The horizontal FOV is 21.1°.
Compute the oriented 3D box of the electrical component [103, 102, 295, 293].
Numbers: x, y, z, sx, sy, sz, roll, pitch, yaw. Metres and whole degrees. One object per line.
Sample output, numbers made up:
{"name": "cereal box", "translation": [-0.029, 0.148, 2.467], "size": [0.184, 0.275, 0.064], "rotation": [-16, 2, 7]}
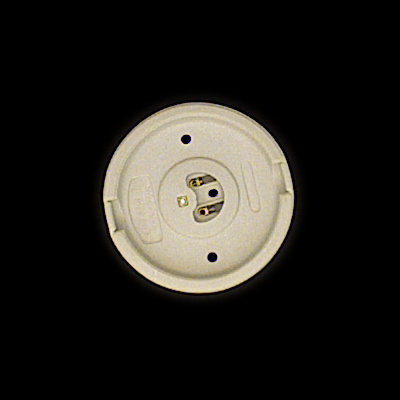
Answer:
{"name": "electrical component", "translation": [0.000, 0.000, 0.634], "size": [0.108, 0.108, 0.060], "rotation": [0, -6, 0]}
